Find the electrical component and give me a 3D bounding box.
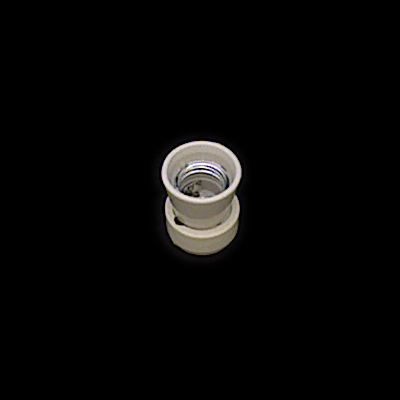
[{"bbox_3d":[0.000,0.000,0.629,0.045,0.044,0.055,0,-38,0],"label":"electrical component"}]
